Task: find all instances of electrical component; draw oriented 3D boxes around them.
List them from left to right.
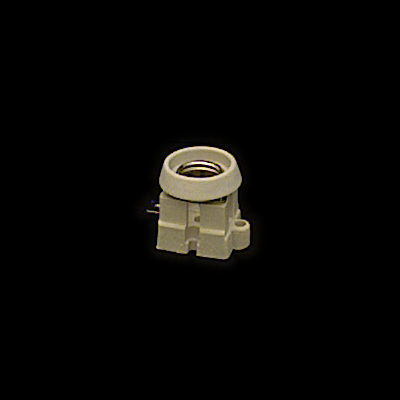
[{"bbox_3d":[0.000,0.000,0.642,0.066,0.056,0.048,8,31,11],"label":"electrical component"}]
